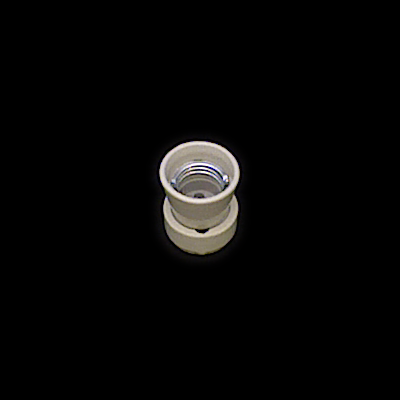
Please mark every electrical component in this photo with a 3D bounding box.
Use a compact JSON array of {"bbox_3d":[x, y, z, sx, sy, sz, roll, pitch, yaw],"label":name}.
[{"bbox_3d":[0.000,0.000,0.628,0.045,0.044,0.055,0,-38,0],"label":"electrical component"}]
